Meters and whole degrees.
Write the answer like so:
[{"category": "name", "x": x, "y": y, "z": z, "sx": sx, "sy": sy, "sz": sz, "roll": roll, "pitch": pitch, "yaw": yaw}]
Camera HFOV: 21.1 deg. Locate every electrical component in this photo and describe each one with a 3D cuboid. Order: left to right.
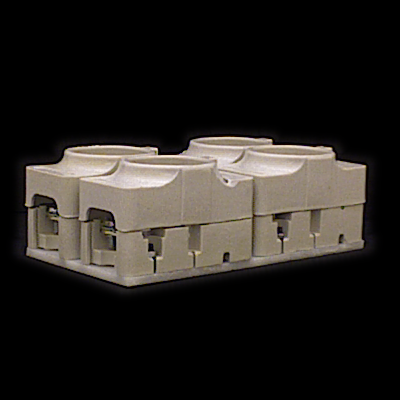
[{"category": "electrical component", "x": 0.000, "y": 0.000, "z": 0.645, "sx": 0.186, "sy": 0.060, "sz": 0.104, "roll": -6, "pitch": 13, "yaw": -39}]
